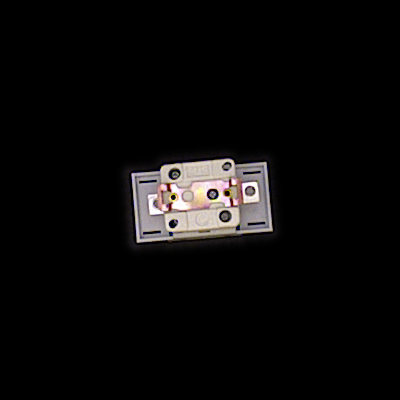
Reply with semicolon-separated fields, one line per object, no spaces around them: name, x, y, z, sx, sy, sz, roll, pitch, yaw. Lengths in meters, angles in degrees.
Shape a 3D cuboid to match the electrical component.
electrical component;0.000;0.000;0.626;0.081;0.042;0.063;-5;-6;0
